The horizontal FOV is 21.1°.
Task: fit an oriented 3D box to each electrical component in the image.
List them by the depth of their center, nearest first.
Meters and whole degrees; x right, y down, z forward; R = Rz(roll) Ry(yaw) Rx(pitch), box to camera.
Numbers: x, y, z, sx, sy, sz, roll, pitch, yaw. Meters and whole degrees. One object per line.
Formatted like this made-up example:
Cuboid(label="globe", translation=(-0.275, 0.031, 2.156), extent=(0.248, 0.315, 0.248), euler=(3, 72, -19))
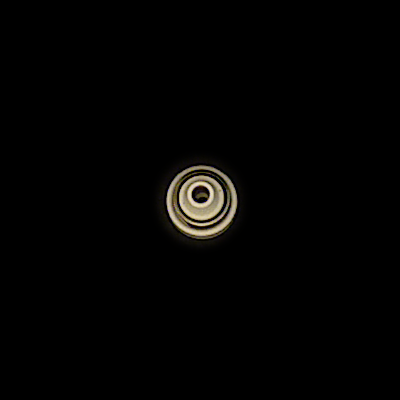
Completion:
Cuboid(label="electrical component", translation=(0.000, 0.000, 0.635), extent=(0.043, 0.043, 0.062), euler=(0, -6, 1))
